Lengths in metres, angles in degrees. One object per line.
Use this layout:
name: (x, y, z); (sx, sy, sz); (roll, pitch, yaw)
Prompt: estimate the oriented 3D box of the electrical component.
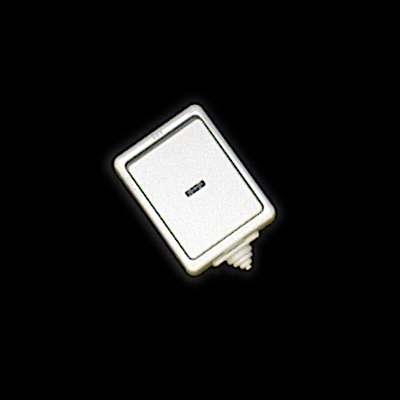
electrical component: (0.000, 0.000, 0.626); (0.062, 0.096, 0.061); (-35, -6, -3)
